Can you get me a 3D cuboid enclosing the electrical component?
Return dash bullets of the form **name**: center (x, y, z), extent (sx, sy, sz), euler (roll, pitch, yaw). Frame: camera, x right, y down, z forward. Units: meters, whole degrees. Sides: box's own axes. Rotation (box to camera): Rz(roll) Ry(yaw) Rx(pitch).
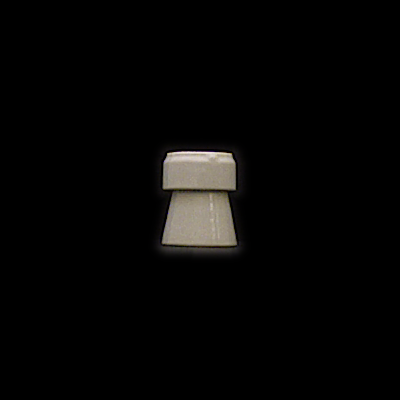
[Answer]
- **electrical component**: center (0.000, 0.000, 0.649), extent (0.045, 0.055, 0.045), euler (1, 1, 0)
